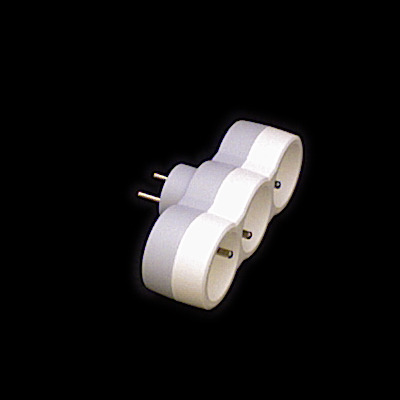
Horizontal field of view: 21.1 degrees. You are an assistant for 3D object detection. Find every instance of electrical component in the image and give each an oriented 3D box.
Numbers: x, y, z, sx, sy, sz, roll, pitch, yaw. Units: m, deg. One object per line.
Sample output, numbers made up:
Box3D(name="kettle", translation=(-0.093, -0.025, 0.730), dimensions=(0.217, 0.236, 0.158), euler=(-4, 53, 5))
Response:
Box3D(name="electrical component", translation=(0.000, 0.000, 0.631), dimensions=(0.073, 0.052, 0.138), euler=(18, 46, 21))
